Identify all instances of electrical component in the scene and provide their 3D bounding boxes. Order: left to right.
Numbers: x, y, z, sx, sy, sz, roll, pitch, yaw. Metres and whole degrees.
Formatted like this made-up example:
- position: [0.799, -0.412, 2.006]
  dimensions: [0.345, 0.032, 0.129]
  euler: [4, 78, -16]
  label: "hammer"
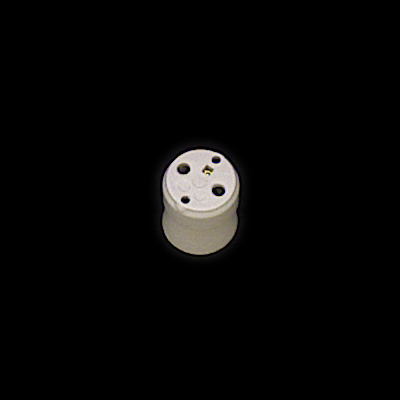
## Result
- position: [0.000, 0.000, 0.628]
  dimensions: [0.045, 0.045, 0.055]
  euler: [0, -26, 0]
  label: "electrical component"
